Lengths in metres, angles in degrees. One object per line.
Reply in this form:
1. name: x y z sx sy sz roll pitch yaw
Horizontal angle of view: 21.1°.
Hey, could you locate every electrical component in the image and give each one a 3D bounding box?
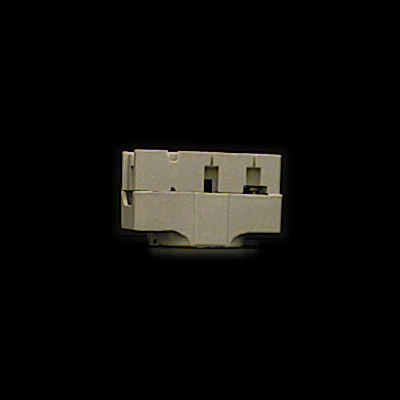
1. electrical component: 0.000 0.000 0.656 0.090 0.056 0.050 1 2 -16
